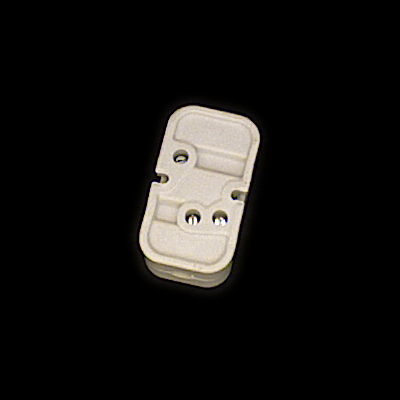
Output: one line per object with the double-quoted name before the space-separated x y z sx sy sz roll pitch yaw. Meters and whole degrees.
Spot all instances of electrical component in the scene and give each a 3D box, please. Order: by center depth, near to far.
"electrical component" 0.000 0.000 0.635 0.053 0.095 0.059 12 -16 4
